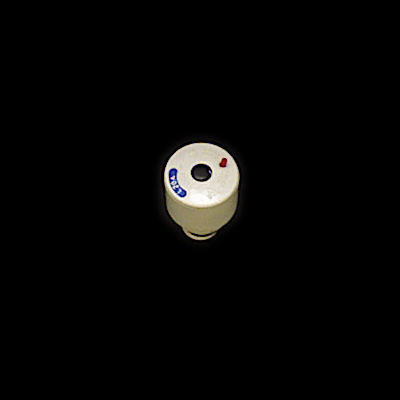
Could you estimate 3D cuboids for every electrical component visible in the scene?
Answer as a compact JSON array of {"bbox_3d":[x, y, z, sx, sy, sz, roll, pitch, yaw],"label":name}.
[{"bbox_3d":[0.000,0.000,0.618,0.040,0.040,0.078,0,-28,0],"label":"electrical component"}]
